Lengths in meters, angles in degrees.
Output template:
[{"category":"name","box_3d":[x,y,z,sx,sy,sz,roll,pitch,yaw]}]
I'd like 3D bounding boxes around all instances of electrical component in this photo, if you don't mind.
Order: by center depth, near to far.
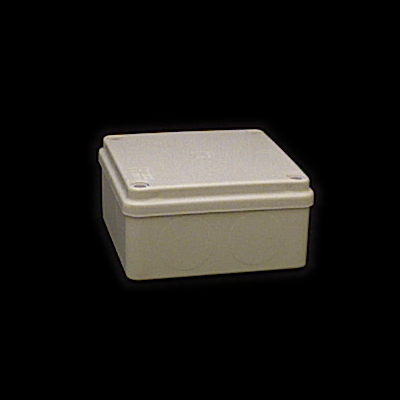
[{"category":"electrical component","box_3d":[0.000,0.000,0.641,0.109,0.057,0.107,-3,21,-13]}]
